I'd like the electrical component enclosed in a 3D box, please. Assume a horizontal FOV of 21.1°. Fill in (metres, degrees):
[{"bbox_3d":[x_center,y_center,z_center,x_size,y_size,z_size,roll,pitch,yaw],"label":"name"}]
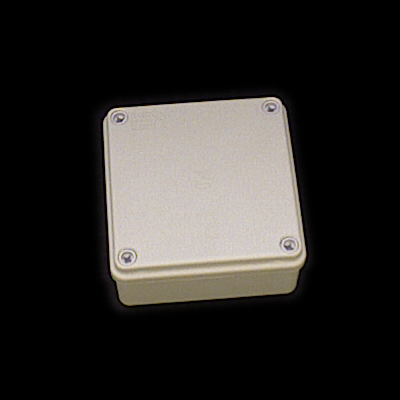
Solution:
[{"bbox_3d":[0.000,0.000,0.628,0.109,0.109,0.056,-4,-27,-2],"label":"electrical component"}]
